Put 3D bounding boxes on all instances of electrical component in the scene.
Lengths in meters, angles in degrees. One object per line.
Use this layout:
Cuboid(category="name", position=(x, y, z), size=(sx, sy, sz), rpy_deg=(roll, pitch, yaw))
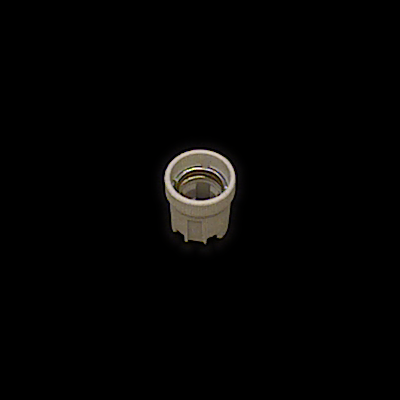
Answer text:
Cuboid(category="electrical component", position=(0.000, 0.000, 0.629), size=(0.040, 0.040, 0.046), rpy_deg=(0, -38, -1))
